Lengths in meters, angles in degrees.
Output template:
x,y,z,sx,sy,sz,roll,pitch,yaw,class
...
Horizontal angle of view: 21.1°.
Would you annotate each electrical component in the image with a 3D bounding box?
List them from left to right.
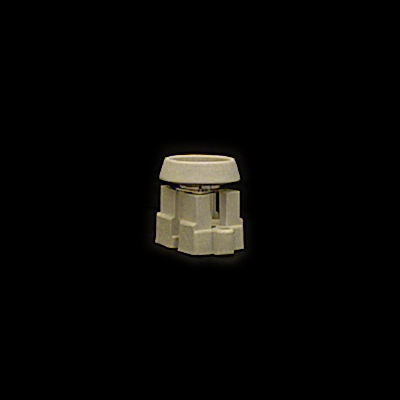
x,y,z,sx,sy,sz,roll,pitch,yaw,class
0.000,0.000,0.652,0.049,0.056,0.065,-5,13,-37,electrical component
